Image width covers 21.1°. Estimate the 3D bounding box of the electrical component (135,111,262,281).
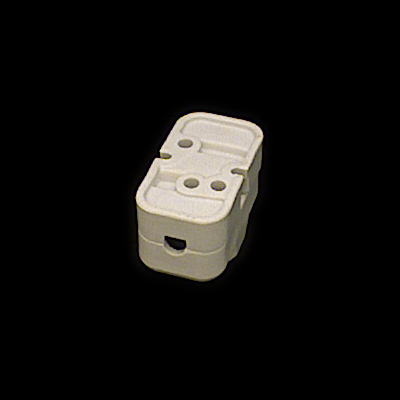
[{"bbox_3d":[0.000,0.000,0.639,0.053,0.060,0.094,13,43,13],"label":"electrical component"}]
